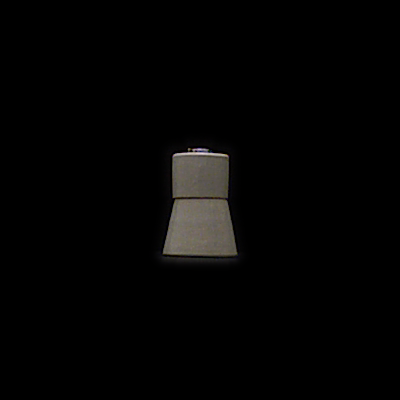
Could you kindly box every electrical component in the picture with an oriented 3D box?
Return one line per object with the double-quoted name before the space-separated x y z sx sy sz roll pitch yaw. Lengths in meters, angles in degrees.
"electrical component" 0.000 0.000 0.652 0.044 0.065 0.044 0 1 0
